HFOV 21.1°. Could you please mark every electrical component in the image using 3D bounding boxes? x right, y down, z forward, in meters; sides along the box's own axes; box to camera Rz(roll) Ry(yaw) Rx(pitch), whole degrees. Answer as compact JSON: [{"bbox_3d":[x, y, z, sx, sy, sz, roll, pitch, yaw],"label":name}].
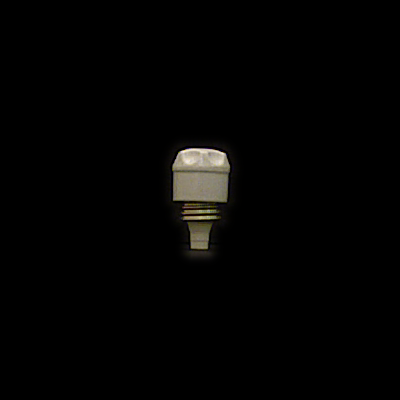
[{"bbox_3d":[0.000,0.000,0.659,0.035,0.061,0.035,1,1,0],"label":"electrical component"}]
